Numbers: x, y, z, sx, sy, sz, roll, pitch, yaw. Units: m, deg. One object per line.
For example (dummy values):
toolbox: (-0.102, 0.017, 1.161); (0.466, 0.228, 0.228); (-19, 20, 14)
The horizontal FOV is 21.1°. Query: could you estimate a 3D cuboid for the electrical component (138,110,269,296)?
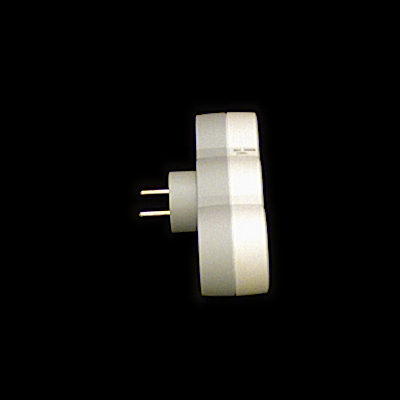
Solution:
electrical component: (0.000, 0.000, 0.642); (0.074, 0.053, 0.137); (-1, 43, 0)
